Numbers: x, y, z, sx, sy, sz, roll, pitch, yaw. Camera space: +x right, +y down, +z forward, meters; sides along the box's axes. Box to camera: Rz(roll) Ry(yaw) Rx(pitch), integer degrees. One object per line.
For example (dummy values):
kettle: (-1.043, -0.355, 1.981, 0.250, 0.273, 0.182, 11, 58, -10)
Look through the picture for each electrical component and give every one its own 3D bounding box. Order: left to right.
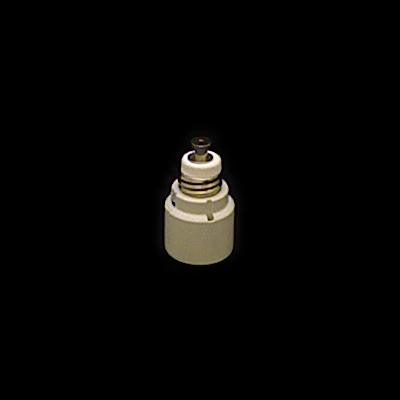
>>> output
electrical component: (0.000, 0.000, 0.631, 0.040, 0.079, 0.039, 1, 32, -1)
